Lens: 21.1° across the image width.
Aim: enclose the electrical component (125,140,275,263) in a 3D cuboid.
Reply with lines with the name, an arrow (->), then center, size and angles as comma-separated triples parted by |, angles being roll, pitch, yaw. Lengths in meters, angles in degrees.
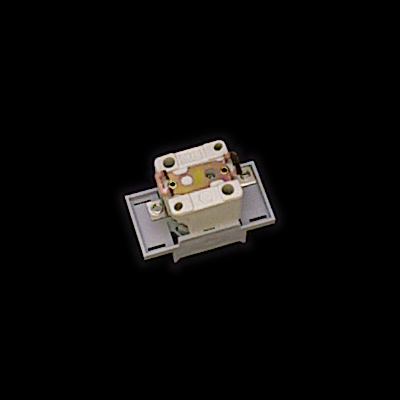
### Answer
electrical component -> 0.000, 0.000, 0.625 | 0.081, 0.042, 0.063 | -16, -26, -9
